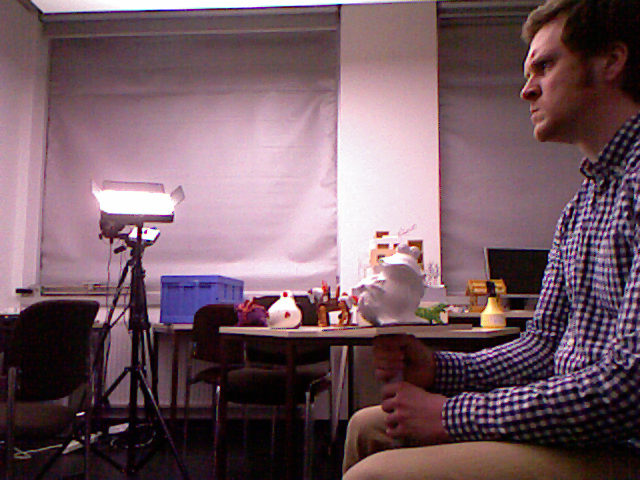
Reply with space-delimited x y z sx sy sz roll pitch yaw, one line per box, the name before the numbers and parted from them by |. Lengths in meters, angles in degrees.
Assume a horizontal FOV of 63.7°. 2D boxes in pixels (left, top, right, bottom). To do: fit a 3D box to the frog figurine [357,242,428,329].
frog figurine | 0.135 0.085 0.967 0.137 0.160 0.122 1 -8 -12
